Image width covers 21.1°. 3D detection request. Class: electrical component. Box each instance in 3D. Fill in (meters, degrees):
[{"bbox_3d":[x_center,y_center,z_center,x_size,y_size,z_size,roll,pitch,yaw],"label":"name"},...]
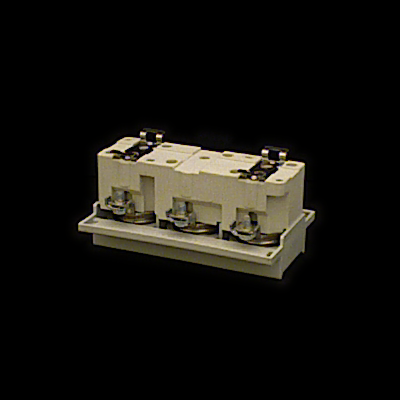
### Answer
[{"bbox_3d":[0.000,0.000,0.642,0.120,0.064,0.078,9,24,20],"label":"electrical component"}]
